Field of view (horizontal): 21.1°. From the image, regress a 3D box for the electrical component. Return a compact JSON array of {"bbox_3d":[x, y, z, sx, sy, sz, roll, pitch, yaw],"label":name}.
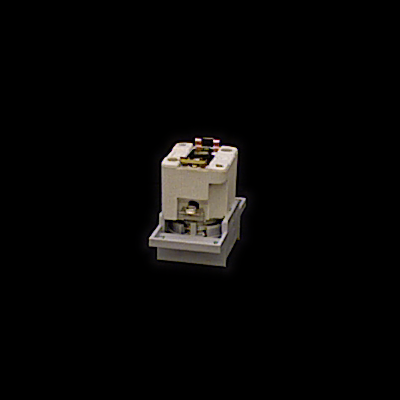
[{"bbox_3d":[0.000,0.000,0.638,0.042,0.064,0.080,5,21,11],"label":"electrical component"}]
